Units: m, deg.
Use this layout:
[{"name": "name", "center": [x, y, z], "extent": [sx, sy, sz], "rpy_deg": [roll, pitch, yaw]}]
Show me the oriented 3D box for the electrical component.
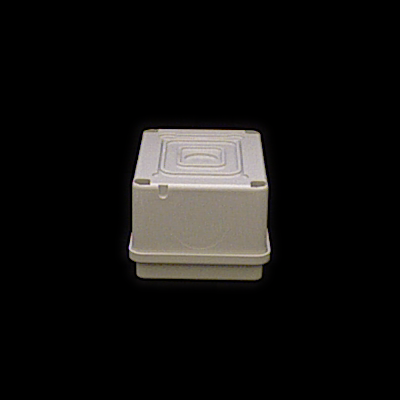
[{"name": "electrical component", "center": [0.000, 0.000, 0.639], "extent": [0.078, 0.058, 0.112], "rpy_deg": [1, 20, 0]}]
